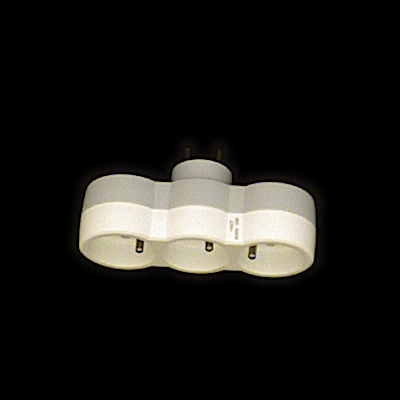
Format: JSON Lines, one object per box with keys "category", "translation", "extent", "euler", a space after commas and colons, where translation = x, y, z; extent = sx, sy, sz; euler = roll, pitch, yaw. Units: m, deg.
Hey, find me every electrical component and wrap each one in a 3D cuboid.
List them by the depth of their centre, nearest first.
{"category": "electrical component", "translation": [0.000, 0.000, 0.639], "extent": [0.138, 0.073, 0.052], "euler": [3, -28, 1]}
